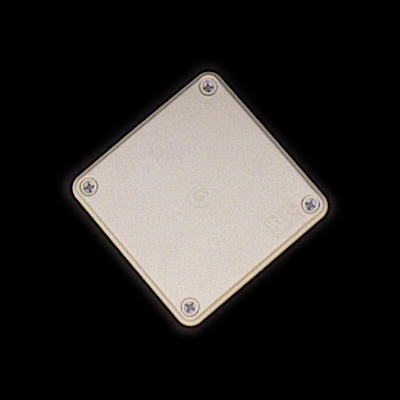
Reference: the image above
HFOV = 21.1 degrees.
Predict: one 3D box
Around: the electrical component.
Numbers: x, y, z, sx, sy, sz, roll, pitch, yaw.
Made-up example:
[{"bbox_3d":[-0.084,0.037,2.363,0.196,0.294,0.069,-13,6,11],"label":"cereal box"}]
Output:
[{"bbox_3d":[0.000,0.000,0.631,0.109,0.109,0.056,-40,-6,-4],"label":"electrical component"}]
